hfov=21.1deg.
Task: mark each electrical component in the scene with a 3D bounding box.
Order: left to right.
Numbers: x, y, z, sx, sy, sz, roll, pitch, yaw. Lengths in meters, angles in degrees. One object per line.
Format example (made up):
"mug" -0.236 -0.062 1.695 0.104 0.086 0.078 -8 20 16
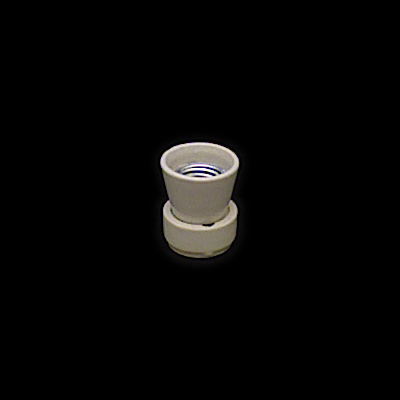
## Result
"electrical component" 0.000 0.000 0.633 0.045 0.056 0.044 0 31 0
